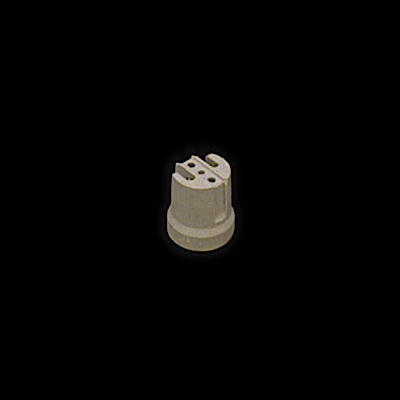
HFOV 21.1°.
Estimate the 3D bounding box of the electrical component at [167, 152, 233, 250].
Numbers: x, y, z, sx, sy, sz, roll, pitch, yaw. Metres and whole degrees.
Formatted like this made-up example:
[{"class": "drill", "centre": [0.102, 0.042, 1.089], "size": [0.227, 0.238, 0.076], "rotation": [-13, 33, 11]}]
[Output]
[{"class": "electrical component", "centre": [0.000, 0.000, 0.637], "size": [0.040, 0.046, 0.040], "rotation": [1, 42, -1]}]
